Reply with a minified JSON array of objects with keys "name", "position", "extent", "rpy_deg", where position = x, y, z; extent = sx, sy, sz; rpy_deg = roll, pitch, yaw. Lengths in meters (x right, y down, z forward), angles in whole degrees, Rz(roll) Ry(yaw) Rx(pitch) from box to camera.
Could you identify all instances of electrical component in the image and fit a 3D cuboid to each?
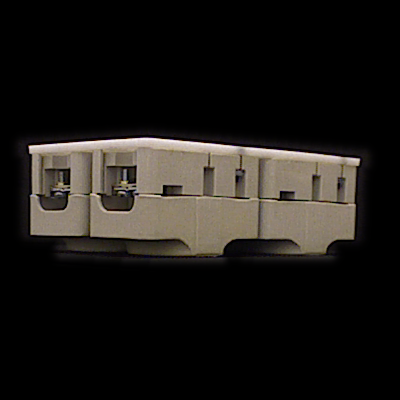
[{"name":"electrical component","position":[0.000,0.000,0.650],"extent":[0.105,0.060,0.187],"rpy_deg":[1,-1,45]}]
